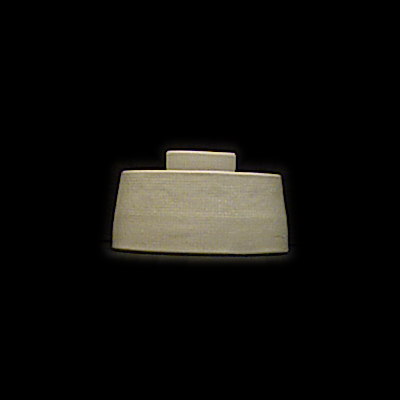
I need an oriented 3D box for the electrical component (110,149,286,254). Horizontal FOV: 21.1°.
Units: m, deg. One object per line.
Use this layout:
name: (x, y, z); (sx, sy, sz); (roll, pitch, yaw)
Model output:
electrical component: (0.000, 0.000, 0.656); (0.108, 0.060, 0.108); (1, 1, 1)
